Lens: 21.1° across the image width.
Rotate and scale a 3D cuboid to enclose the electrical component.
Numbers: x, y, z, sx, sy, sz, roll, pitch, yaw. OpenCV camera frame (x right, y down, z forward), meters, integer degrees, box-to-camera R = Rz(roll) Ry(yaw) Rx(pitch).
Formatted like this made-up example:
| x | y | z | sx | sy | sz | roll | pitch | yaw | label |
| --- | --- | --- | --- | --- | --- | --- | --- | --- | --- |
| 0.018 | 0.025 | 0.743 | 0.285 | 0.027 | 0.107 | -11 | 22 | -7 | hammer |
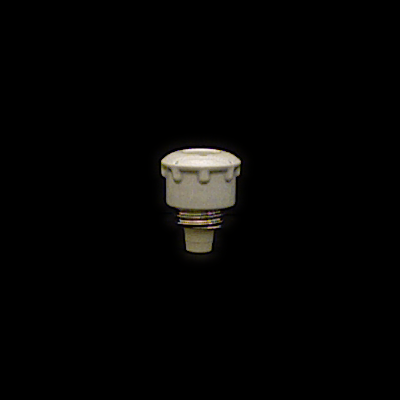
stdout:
| x | y | z | sx | sy | sz | roll | pitch | yaw | label |
| --- | --- | --- | --- | --- | --- | --- | --- | --- | --- |
| 0.000 | 0.000 | 0.651 | 0.048 | 0.062 | 0.048 | 1 | 11 | 0 | electrical component |
